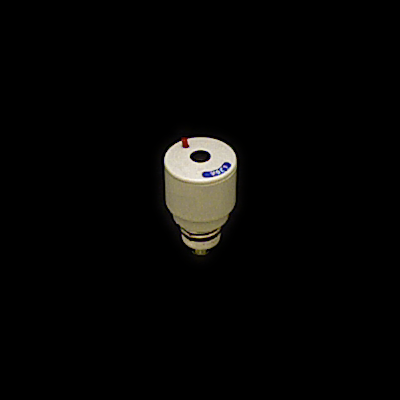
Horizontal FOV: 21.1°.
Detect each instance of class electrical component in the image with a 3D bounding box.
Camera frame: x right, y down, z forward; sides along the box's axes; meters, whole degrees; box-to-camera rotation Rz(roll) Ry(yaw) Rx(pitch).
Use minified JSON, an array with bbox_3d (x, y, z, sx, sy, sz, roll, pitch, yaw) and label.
[{"bbox_3d":[0.000,0.000,0.626,0.040,0.079,0.039,0,41,0],"label":"electrical component"}]
